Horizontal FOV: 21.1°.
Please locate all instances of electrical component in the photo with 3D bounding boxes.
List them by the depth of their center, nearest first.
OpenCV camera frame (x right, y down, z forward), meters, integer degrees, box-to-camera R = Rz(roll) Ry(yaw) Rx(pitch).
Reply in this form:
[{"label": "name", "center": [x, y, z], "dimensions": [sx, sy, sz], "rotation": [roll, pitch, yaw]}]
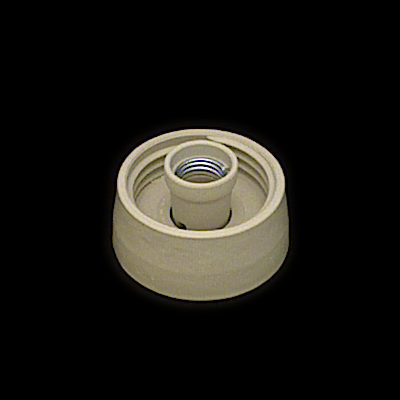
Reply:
[{"label": "electrical component", "center": [0.000, 0.000, 0.639], "dimensions": [0.108, 0.061, 0.106], "rotation": [1, 42, 0]}]
